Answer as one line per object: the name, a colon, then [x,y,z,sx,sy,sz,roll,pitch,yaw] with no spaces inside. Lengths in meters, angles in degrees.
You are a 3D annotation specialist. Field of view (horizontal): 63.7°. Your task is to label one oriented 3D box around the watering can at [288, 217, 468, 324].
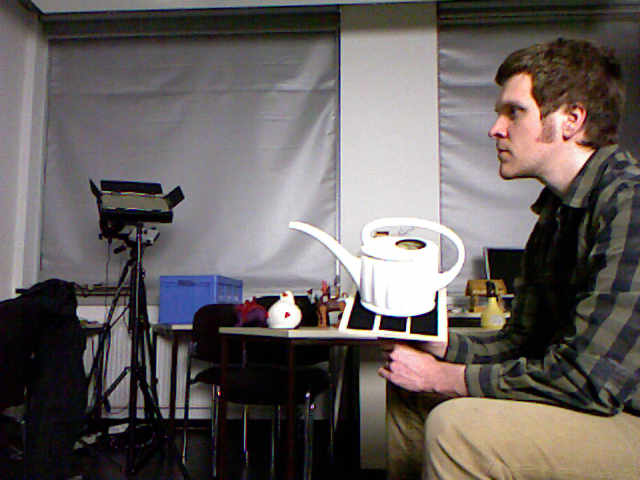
watering can: [0.112,0.053,1.024,0.348,0.220,0.106,3,26,7]
